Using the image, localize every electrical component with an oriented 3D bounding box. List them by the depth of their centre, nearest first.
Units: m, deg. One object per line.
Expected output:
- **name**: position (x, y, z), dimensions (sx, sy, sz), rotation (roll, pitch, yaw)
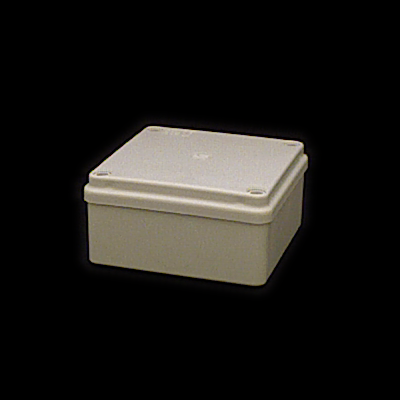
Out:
- **electrical component**: position (0.000, 0.000, 0.638), dimensions (0.108, 0.057, 0.107), rotation (7, 22, 15)
